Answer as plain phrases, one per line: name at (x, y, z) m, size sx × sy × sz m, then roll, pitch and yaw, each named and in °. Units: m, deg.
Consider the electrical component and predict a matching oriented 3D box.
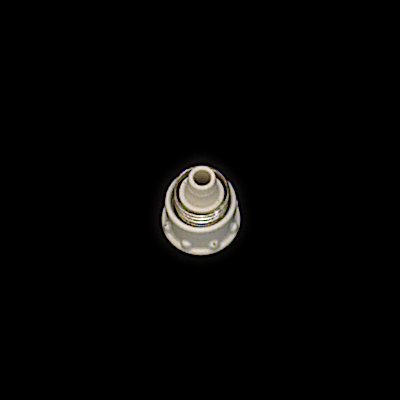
electrical component at (0.000, 0.000, 0.634) m, size 0.048 × 0.048 × 0.062 m, roll 0°, pitch -26°, yaw -1°
